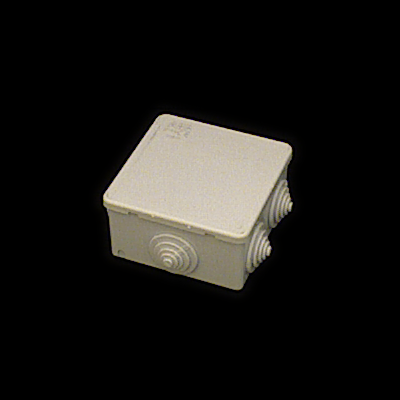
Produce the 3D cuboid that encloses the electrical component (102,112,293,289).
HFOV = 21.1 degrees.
[{"bbox_3d":[0.000,0.000,0.643,0.099,0.049,0.099,15,45,15],"label":"electrical component"}]
